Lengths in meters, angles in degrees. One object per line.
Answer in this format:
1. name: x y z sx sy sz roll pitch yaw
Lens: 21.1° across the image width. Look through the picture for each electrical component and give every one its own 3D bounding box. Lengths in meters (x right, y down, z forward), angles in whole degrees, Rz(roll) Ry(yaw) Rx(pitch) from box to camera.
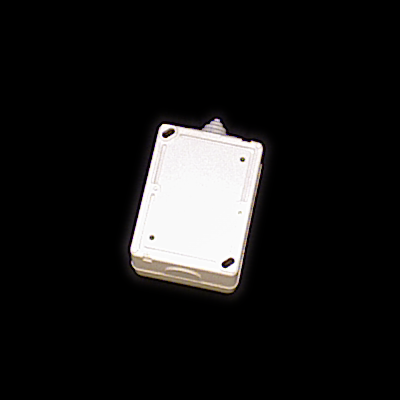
1. electrical component: 0.000 0.000 0.628 0.062 0.096 0.060 11 -17 3
